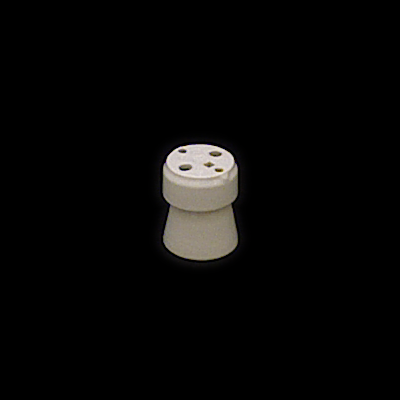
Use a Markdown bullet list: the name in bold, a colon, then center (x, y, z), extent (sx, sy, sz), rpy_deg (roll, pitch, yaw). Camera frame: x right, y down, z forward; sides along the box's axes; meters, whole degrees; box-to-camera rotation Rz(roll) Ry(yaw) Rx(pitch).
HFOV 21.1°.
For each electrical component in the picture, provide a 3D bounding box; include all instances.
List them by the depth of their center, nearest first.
- **electrical component**: center (0.000, 0.000, 0.634), extent (0.045, 0.056, 0.044), rpy_deg (0, 32, 0)
